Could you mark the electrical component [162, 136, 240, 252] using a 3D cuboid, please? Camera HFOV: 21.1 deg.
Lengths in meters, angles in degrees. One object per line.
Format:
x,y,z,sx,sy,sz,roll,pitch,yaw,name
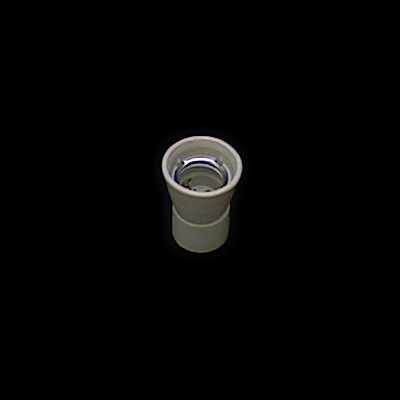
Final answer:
0.000,0.000,0.628,0.044,0.044,0.065,0,-39,-1,electrical component
